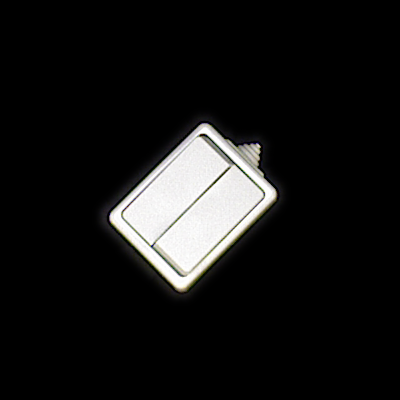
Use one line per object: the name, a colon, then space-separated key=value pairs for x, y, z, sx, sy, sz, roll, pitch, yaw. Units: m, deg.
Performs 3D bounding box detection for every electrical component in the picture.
electrical component: x=0.000 y=0.000 z=0.627 sx=0.096 sy=0.062 sz=0.061 roll=-45 pitch=-5 yaw=-4
